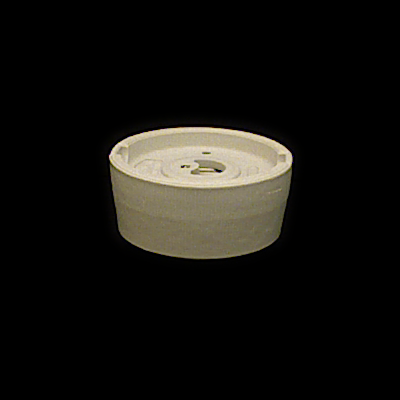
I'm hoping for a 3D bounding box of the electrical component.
[{"bbox_3d":[0.000,0.000,0.643,0.108,0.061,0.106,2,21,0],"label":"electrical component"}]
